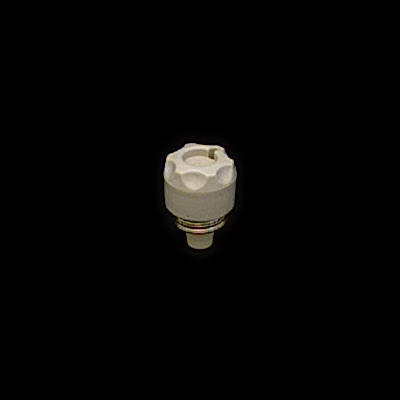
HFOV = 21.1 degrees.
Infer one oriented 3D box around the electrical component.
[{"bbox_3d":[0.000,0.000,0.640,0.043,0.063,0.043,1,33,0],"label":"electrical component"}]
